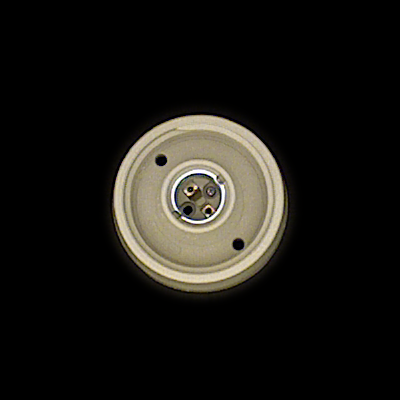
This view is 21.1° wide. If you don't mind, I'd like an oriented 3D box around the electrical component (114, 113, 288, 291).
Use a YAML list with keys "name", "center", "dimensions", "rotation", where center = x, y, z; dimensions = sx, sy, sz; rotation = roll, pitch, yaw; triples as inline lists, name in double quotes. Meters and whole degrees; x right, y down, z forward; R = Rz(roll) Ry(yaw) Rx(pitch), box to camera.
- name: "electrical component"
  center: [0.000, 0.000, 0.635]
  dimensions: [0.108, 0.108, 0.060]
  rotation: [0, -6, 0]
